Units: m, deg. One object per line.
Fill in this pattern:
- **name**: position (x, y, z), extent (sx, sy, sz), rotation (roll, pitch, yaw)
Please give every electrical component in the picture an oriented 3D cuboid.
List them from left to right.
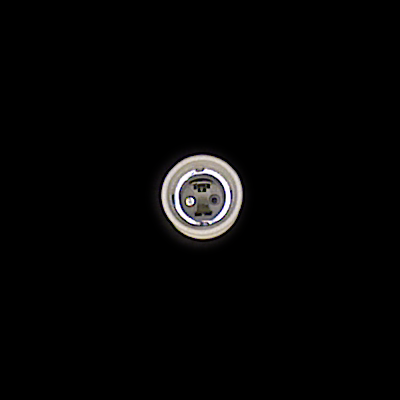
- **electrical component**: position (0.000, 0.000, 0.629), extent (0.045, 0.045, 0.055), rotation (0, -7, 0)
